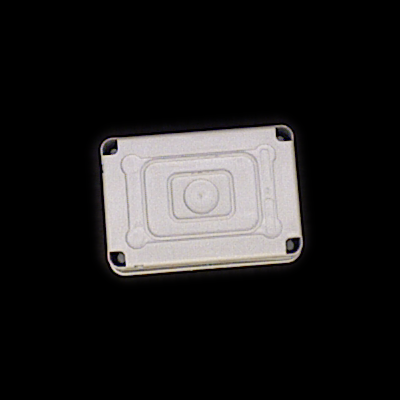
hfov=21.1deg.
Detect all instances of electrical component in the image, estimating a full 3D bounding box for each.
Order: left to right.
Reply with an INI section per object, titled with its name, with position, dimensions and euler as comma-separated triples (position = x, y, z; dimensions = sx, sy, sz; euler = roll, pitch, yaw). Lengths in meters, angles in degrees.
[electrical component]
position = 0.000, 0.000, 0.629
dimensions = 0.113, 0.078, 0.057
euler = -4, -7, -1
